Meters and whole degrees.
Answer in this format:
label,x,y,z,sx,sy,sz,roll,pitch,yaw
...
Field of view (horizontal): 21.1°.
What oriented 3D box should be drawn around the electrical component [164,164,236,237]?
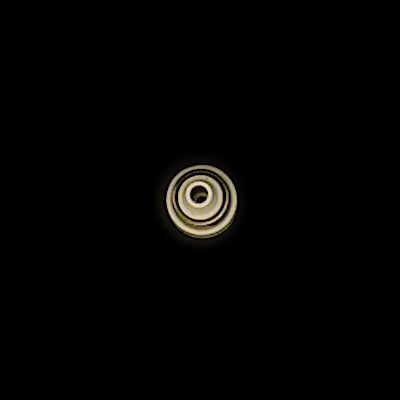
label,x,y,z,sx,sy,sz,roll,pitch,yaw
electrical component,0.000,0.000,0.635,0.043,0.043,0.062,0,-6,2
